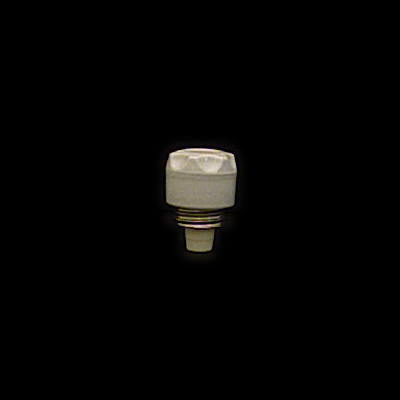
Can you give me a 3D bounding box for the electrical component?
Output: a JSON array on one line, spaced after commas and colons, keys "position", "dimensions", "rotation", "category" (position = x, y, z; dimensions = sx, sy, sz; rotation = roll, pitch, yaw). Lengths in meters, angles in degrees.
[{"position": [0.000, 0.000, 0.652], "dimensions": [0.043, 0.062, 0.043], "rotation": [2, 11, 0], "category": "electrical component"}]
